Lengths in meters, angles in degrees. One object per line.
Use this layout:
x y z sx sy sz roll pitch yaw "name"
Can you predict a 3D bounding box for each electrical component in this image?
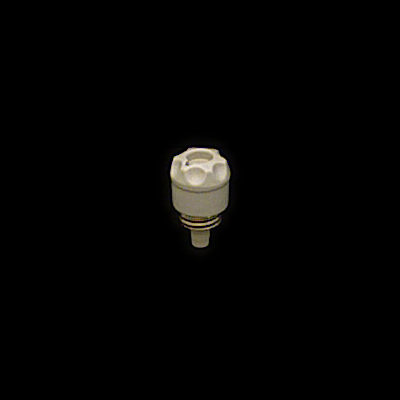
0.000 0.000 0.640 0.035 0.062 0.035 0 32 0 "electrical component"
